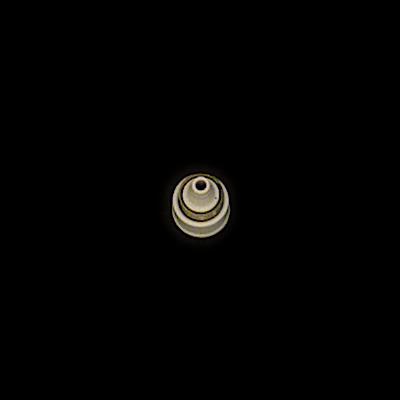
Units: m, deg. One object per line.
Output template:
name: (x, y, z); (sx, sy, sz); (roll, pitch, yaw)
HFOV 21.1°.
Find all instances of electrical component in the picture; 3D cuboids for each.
electrical component: (0.000, 0.000, 0.637); (0.035, 0.035, 0.061); (0, -17, 0)
